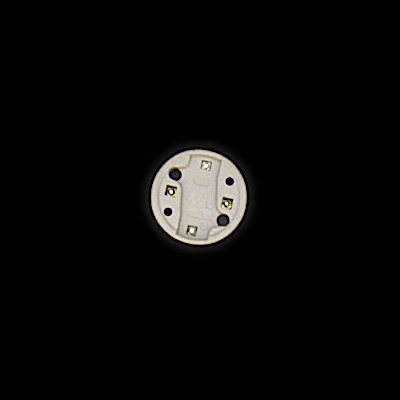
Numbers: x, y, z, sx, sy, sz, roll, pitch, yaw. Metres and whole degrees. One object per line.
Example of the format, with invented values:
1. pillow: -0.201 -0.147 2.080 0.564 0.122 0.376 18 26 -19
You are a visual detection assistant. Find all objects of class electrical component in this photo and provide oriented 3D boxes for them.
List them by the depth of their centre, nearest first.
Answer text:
1. electrical component: 0.000 0.000 0.635 0.055 0.056 0.047 0 -7 0
